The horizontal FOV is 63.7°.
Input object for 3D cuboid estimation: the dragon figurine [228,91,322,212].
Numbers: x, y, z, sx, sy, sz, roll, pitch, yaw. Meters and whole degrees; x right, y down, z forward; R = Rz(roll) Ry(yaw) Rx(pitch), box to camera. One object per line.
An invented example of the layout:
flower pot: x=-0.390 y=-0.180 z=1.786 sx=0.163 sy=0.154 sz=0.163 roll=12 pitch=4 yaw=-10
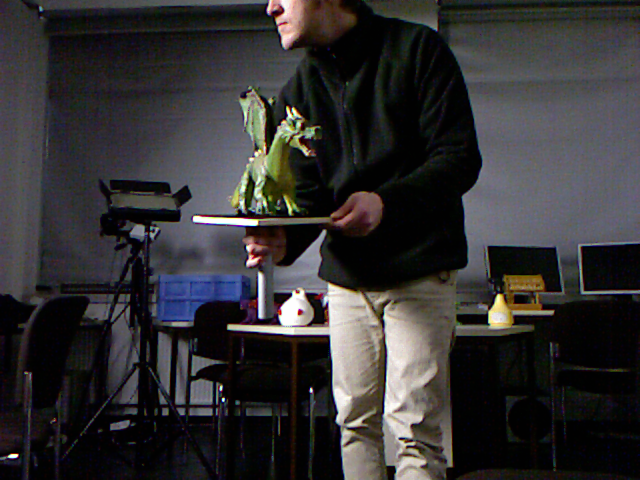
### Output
dragon figurine: x=-0.120 y=-0.174 z=1.033 sx=0.123 sy=0.241 sz=0.411 roll=-8 pitch=10 yaw=-32
